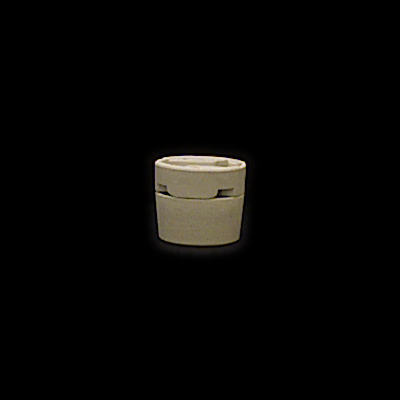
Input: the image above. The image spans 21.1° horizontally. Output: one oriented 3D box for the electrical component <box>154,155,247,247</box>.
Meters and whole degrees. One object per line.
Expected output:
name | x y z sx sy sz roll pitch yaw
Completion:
electrical component | 0.000 0.000 0.646 0.055 0.047 0.055 1 11 0
